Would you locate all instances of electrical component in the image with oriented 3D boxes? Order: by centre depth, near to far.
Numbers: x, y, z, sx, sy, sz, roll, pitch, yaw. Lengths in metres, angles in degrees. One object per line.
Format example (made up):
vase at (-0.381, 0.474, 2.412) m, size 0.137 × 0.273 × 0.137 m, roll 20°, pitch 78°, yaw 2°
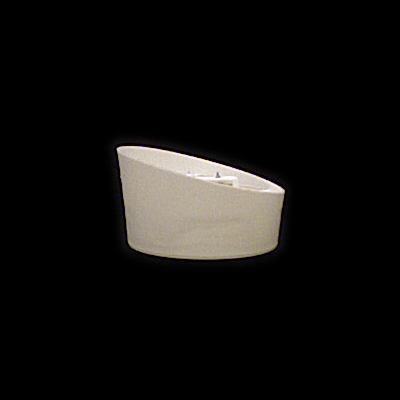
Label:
electrical component at (0.000, 0.000, 0.642) m, size 0.099 × 0.064 × 0.098 m, roll 0°, pitch 11°, yaw 0°
